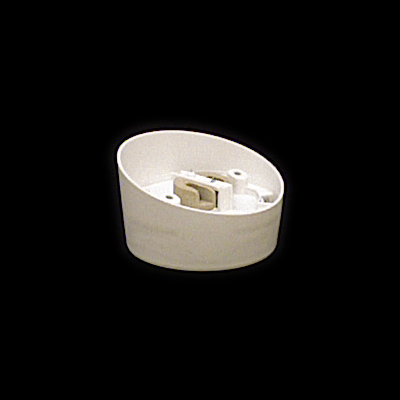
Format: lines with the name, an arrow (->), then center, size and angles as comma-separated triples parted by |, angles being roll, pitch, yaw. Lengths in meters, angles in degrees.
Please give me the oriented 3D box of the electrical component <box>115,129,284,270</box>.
electrical component -> 0.000, 0.000, 0.638 | 0.099, 0.065, 0.097 | 0, 20, 0
